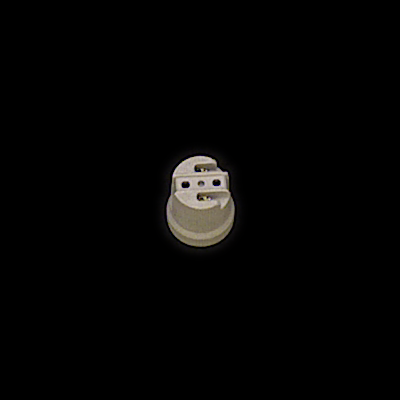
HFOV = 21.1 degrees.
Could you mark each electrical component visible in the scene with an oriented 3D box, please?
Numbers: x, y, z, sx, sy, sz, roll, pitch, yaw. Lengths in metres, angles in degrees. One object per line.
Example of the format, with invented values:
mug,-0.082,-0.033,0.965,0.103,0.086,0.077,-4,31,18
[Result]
electrical component,0.000,0.000,0.632,0.040,0.040,0.046,0,-26,0
